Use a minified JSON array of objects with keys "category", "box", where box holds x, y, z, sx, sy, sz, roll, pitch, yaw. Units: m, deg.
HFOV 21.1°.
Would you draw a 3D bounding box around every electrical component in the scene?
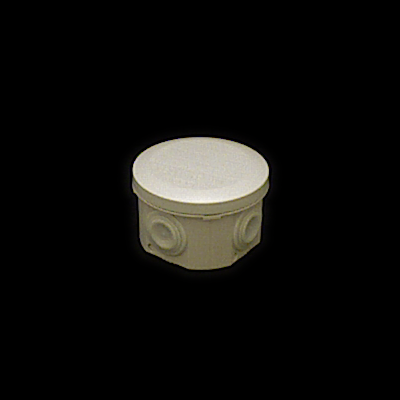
[{"category":"electrical component","box":[0.000,0.000,0.637,0.080,0.051,0.079,1,31,0]}]
